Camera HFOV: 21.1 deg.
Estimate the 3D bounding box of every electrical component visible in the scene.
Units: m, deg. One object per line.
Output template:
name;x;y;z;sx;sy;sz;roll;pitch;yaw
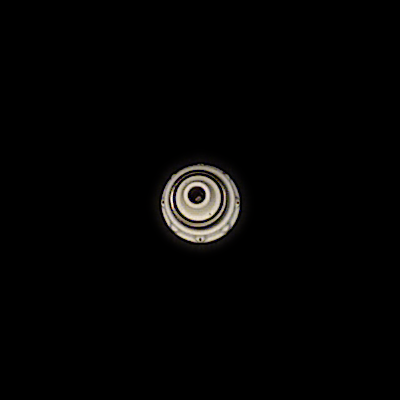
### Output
electrical component;0.000;0.000;0.635;0.048;0.048;0.062;0;-6;1
